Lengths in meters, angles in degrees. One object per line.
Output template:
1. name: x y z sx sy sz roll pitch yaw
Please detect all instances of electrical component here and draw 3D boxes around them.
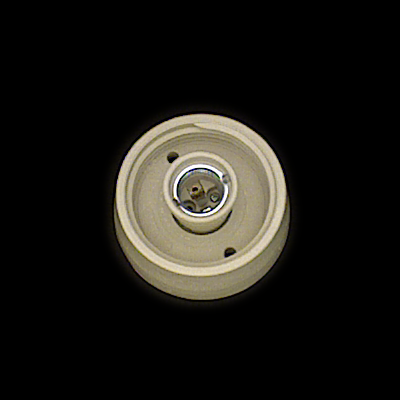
1. electrical component: 0.000 0.000 0.634 0.108 0.108 0.060 0 -16 0
